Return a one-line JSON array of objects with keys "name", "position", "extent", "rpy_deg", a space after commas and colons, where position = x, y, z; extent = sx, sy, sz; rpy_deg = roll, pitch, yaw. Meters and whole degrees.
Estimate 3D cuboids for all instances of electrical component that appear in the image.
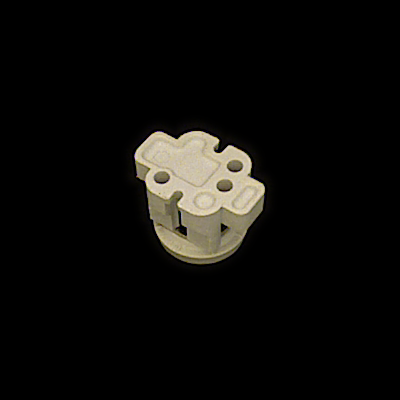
[{"name": "electrical component", "position": [0.000, 0.000, 0.637], "extent": [0.078, 0.058, 0.057], "rpy_deg": [27, -32, 20]}]
